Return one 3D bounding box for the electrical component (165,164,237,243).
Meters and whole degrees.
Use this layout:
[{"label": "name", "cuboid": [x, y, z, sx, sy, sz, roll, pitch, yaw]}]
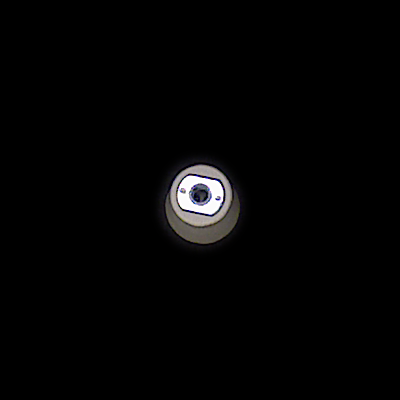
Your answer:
[{"label": "electrical component", "cuboid": [0.000, 0.000, 0.626, 0.044, 0.044, 0.065, 0, -7, 1]}]
